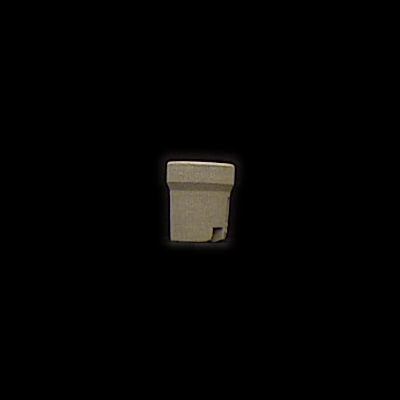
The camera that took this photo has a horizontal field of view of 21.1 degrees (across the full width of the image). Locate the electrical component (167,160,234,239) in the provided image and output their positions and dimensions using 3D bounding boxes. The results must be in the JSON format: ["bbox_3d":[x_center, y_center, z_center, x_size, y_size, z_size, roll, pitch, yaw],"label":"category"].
[{"bbox_3d":[0.000,0.000,0.649,0.040,0.046,0.040,1,1,0],"label":"electrical component"}]
